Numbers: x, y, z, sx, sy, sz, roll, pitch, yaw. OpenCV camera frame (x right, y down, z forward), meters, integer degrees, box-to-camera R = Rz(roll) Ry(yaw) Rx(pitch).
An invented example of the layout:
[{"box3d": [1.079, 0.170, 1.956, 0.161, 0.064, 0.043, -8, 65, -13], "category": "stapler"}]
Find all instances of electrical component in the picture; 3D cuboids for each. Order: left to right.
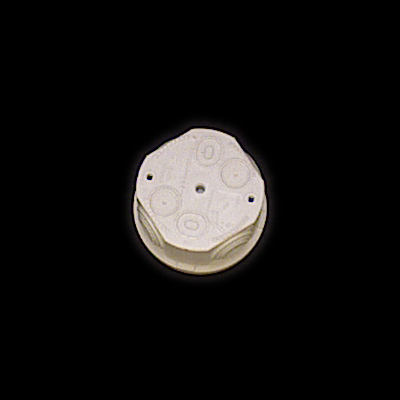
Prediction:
[{"box3d": [0.000, 0.000, 0.632, 0.080, 0.080, 0.050, 0, -17, -1], "category": "electrical component"}]
